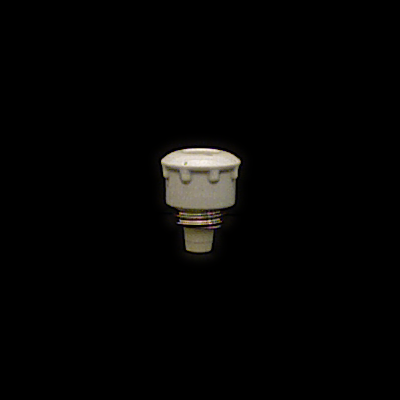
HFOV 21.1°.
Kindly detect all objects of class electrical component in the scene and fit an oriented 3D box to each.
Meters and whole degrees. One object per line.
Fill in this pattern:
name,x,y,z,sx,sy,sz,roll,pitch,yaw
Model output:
electrical component,0.000,0.000,0.652,0.048,0.062,0.048,1,11,0
